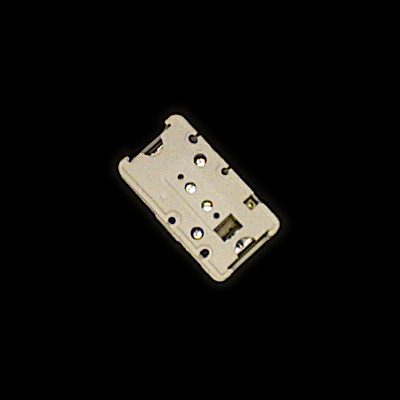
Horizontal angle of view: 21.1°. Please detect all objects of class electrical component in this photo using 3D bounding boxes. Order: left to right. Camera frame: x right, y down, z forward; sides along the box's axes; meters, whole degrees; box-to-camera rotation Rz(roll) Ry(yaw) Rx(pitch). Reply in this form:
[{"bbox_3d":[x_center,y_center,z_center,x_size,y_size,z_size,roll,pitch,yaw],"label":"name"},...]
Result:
[{"bbox_3d":[0.000,0.000,0.637,0.050,0.089,0.055,-42,-4,-4],"label":"electrical component"}]
